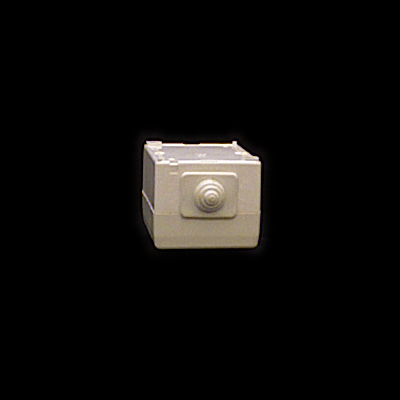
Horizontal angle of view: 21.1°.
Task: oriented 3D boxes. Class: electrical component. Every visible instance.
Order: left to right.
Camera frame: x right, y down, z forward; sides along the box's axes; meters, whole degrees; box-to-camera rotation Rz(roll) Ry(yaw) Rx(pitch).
[{"bbox_3d":[0.000,0.000,0.642,0.062,0.061,0.095,0,11,-8],"label":"electrical component"}]
